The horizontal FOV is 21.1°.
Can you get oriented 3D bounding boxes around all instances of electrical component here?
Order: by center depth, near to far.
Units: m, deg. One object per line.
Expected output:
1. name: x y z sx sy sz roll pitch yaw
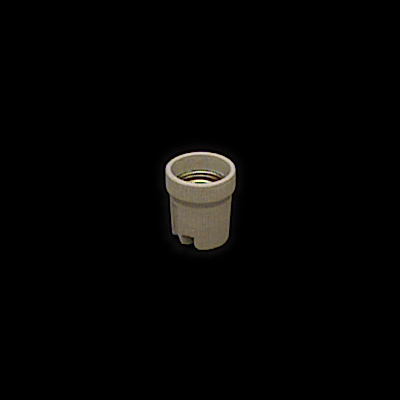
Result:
1. electrical component: 0.000 0.000 0.635 0.040 0.047 0.039 1 32 0
